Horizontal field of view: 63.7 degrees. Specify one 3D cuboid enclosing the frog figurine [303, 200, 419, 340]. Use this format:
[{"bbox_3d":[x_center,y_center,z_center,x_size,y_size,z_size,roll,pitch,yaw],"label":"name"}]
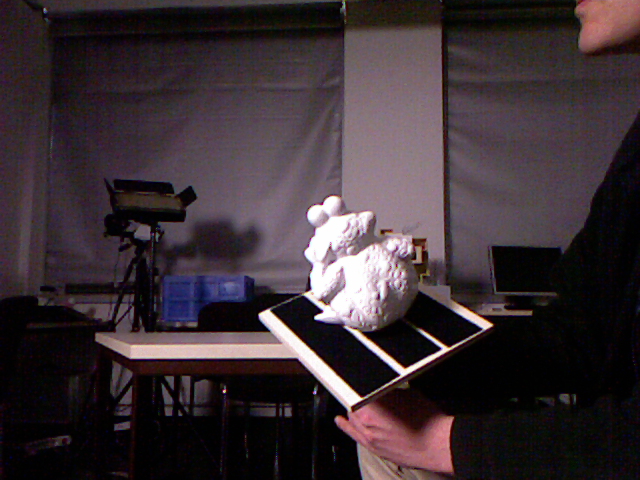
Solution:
[{"bbox_3d":[0.048,0.029,0.594,0.138,0.156,0.125,-16,35,-13],"label":"frog figurine"}]
